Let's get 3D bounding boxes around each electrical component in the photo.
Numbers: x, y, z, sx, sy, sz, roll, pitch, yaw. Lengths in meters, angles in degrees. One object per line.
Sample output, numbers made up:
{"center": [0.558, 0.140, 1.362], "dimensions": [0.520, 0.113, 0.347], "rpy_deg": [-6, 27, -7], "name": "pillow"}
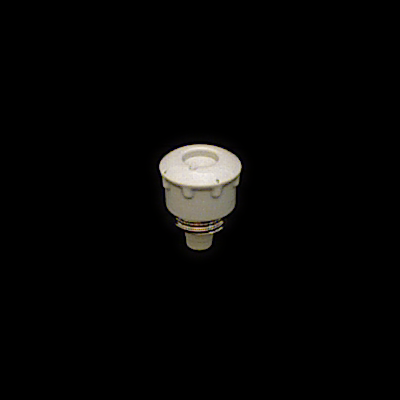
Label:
{"center": [0.000, 0.000, 0.640], "dimensions": [0.048, 0.063, 0.047], "rpy_deg": [1, 32, 0], "name": "electrical component"}
